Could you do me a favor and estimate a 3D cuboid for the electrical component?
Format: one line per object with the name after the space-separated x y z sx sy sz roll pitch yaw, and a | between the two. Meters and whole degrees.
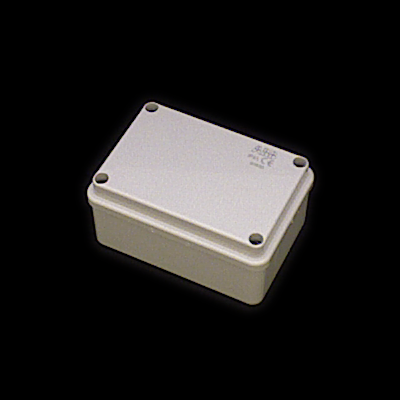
0.000 0.000 0.630 0.113 0.078 0.057 21 -35 15 | electrical component
